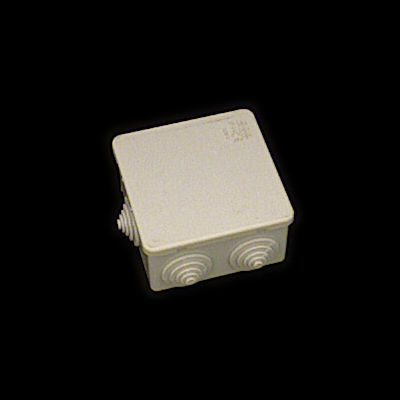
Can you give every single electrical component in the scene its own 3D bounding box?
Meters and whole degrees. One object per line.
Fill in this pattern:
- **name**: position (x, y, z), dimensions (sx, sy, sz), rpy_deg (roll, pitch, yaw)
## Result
- **electrical component**: position (0.000, 0.000, 0.641), dimensions (0.100, 0.099, 0.049), rpy_deg (-12, -36, -10)
